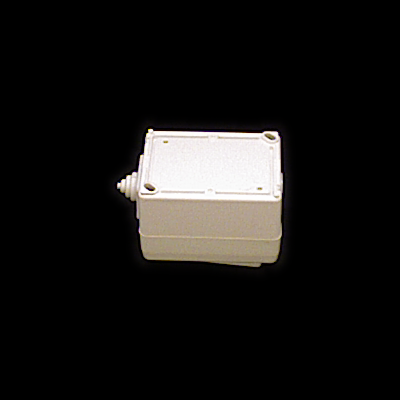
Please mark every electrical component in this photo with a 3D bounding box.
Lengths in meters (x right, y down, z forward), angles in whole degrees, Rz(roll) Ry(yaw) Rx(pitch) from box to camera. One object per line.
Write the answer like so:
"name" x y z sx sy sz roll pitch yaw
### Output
"electrical component" 0.000 0.000 0.633 0.096 0.061 0.061 1 42 1
